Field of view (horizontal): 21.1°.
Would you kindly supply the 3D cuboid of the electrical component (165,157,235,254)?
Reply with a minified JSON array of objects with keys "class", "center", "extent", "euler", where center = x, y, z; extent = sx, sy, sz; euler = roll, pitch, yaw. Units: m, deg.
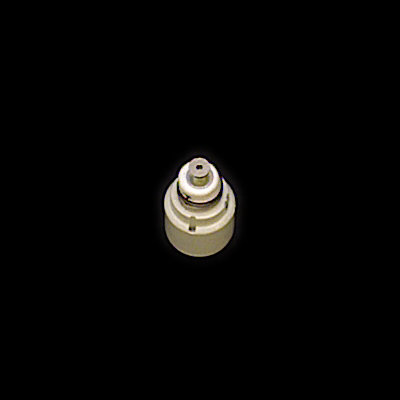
[{"class":"electrical component","center":[0.000,0.000,0.618],"extent":[0.040,0.040,0.078],"euler":[0,-29,0]}]
